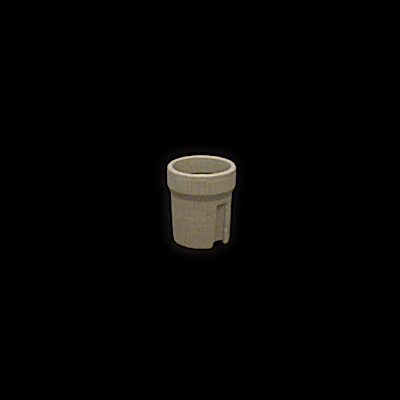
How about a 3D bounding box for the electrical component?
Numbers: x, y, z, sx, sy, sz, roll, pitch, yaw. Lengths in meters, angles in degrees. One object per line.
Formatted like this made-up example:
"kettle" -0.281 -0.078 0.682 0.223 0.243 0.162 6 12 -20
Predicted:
"electrical component" 0.000 0.000 0.641 0.040 0.047 0.039 1 21 0
